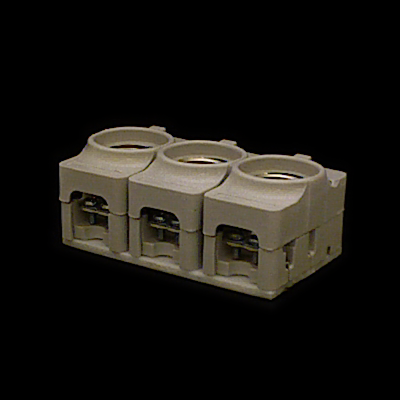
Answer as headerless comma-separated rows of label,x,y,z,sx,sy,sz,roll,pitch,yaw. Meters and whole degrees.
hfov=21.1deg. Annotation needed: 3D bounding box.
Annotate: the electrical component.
electrical component,0.000,0.000,0.647,0.149,0.063,0.088,14,23,29
